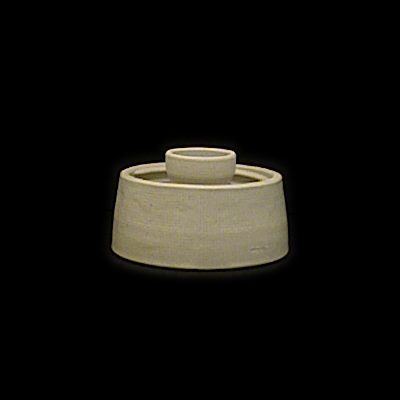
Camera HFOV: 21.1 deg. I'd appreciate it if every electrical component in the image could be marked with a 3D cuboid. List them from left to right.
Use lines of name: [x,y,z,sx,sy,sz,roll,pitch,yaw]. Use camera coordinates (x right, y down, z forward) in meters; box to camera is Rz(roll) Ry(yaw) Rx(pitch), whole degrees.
electrical component: [0.000,0.000,0.652,0.108,0.061,0.107,1,11,0]
